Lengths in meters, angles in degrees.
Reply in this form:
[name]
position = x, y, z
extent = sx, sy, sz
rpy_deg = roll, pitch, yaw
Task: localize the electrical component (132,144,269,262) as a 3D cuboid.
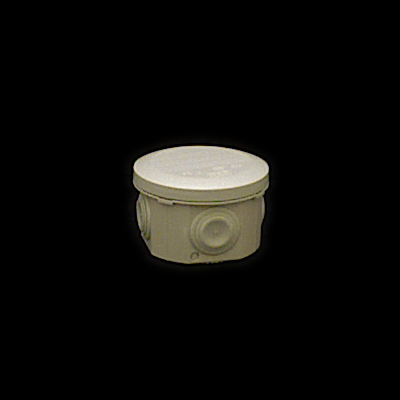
[electrical component]
position = 0.000, 0.000, 0.639
extent = 0.080, 0.051, 0.079
rpy_deg = 1, 21, 0
